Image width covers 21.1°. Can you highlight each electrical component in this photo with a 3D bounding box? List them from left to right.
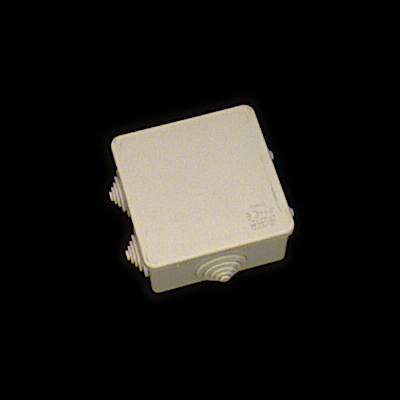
[{"bbox_3d":[0.000,0.000,0.640,0.100,0.099,0.048,-14,-25,-7],"label":"electrical component"}]
